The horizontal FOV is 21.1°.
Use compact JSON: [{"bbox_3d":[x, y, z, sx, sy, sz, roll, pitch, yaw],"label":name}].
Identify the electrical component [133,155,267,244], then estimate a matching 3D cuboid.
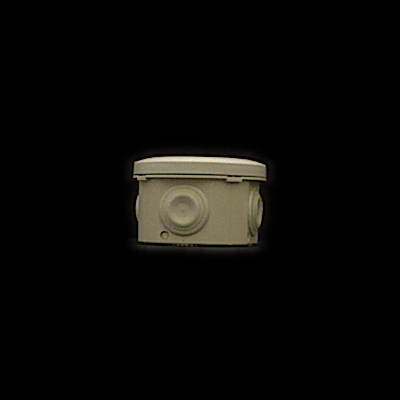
[{"bbox_3d":[0.000,0.000,0.647,0.080,0.051,0.080,1,0,0],"label":"electrical component"}]
